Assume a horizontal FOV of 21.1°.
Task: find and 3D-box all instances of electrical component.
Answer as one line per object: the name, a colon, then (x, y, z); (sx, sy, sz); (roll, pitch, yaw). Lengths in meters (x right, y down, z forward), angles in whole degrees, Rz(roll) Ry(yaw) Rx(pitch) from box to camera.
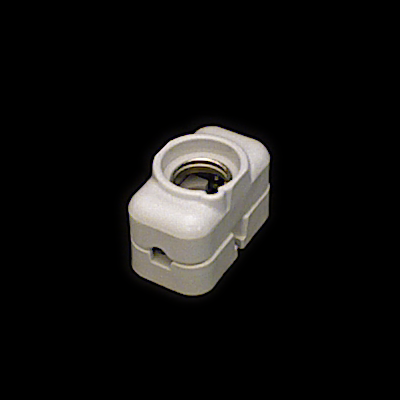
electrical component: (0.000, 0.000, 0.637); (0.053, 0.060, 0.095); (21, 47, 22)
